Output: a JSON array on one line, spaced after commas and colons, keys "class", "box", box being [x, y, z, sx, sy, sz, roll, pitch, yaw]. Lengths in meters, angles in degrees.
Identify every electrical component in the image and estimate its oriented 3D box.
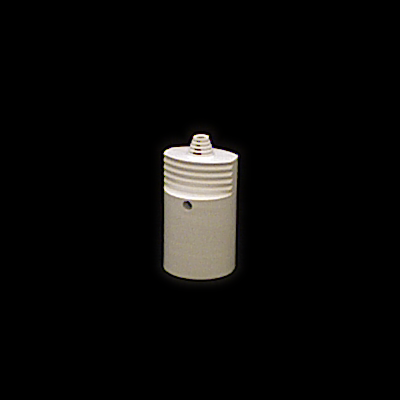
[{"class": "electrical component", "box": [0.000, 0.000, 0.635, 0.043, 0.082, 0.042, 1, 21, 0]}]
